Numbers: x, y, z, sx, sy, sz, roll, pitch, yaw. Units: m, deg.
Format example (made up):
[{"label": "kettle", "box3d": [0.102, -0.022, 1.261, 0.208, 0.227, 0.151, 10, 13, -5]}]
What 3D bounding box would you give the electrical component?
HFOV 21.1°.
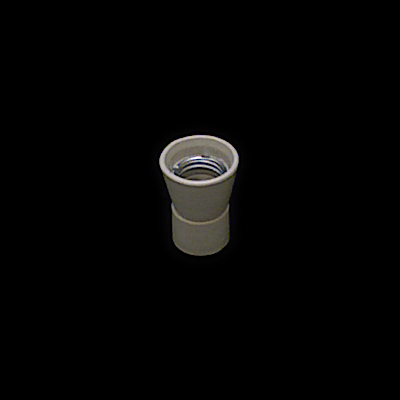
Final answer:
[{"label": "electrical component", "box3d": [0.000, 0.000, 0.629, 0.044, 0.066, 0.044, 0, 42, 1]}]
